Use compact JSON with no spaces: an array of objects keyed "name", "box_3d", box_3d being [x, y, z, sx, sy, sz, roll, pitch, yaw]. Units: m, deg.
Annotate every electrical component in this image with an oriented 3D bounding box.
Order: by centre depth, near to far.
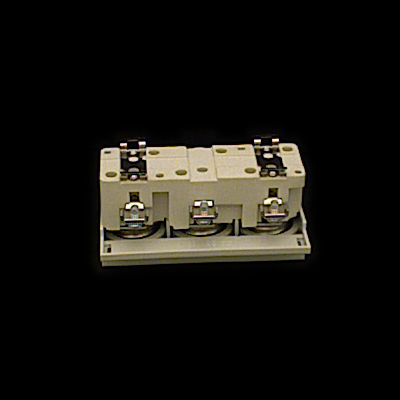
[{"name":"electrical component","box_3d":[0.000,0.000,0.644,0.122,0.064,0.077,-2,31,-4]}]
